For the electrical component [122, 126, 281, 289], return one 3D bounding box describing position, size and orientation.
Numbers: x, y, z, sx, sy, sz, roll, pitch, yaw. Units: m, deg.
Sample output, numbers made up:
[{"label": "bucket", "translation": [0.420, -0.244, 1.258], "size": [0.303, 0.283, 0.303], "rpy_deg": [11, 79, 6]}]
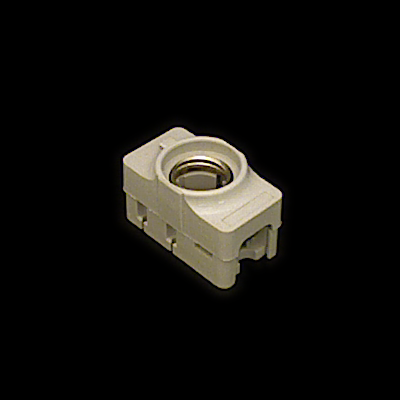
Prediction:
[{"label": "electrical component", "translation": [0.000, 0.000, 0.640], "size": [0.088, 0.056, 0.050], "rpy_deg": [35, 52, 31]}]
